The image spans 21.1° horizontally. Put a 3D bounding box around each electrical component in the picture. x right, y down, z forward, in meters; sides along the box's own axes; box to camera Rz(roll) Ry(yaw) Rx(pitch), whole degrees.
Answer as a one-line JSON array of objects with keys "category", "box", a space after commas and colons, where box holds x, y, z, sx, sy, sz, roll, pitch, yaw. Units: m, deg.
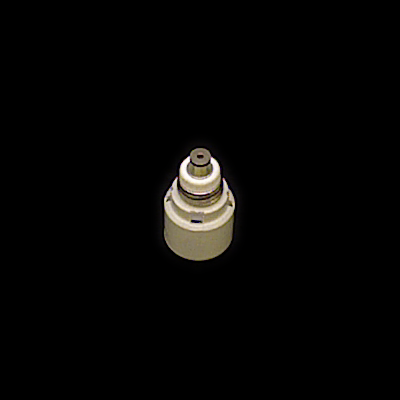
[{"category": "electrical component", "box": [0.000, 0.000, 0.621, 0.040, 0.040, 0.079, 0, -38, -2]}]
